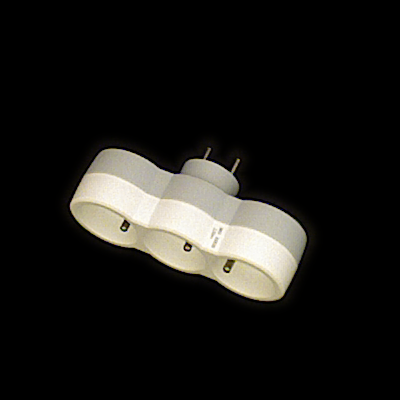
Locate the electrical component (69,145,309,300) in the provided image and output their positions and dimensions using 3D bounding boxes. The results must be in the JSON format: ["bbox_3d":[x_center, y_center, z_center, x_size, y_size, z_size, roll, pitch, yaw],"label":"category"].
[{"bbox_3d":[0.000,0.000,0.639,0.138,0.074,0.052,21,-26,10],"label":"electrical component"}]
